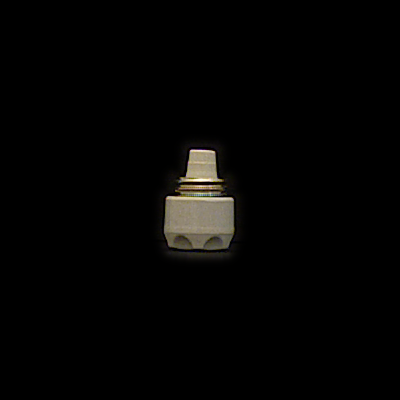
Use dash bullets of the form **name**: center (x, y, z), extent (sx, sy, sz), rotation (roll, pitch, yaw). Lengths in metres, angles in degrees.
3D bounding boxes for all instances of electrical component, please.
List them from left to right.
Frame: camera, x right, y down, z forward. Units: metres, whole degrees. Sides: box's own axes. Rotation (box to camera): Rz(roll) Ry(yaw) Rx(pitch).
- **electrical component**: center (0.000, 0.000, 0.655), extent (0.043, 0.062, 0.043), rotation (2, 3, 0)
